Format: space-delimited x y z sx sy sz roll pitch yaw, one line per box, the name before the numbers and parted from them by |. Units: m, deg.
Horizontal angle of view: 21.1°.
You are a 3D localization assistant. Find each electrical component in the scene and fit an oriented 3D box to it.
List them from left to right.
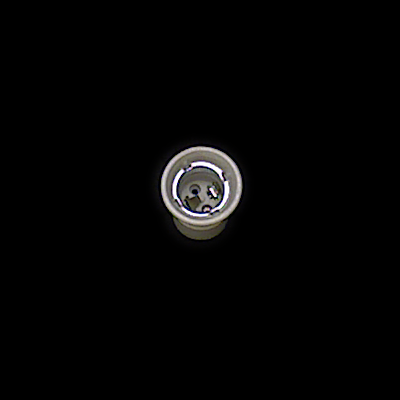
electrical component | 0.000 0.000 0.623 0.044 0.044 0.065 0 -16 0
